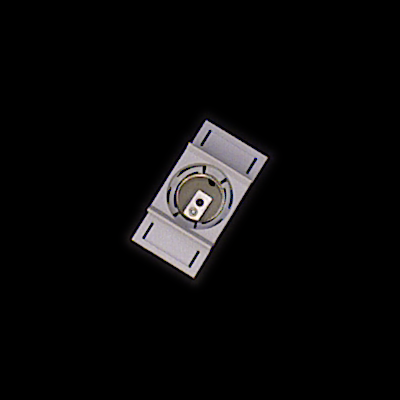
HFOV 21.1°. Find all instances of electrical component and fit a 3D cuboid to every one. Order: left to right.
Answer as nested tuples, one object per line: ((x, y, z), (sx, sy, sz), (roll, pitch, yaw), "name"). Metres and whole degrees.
((0.000, 0.000, 0.624), (0.042, 0.081, 0.063), (32, -6, 2), "electrical component")
